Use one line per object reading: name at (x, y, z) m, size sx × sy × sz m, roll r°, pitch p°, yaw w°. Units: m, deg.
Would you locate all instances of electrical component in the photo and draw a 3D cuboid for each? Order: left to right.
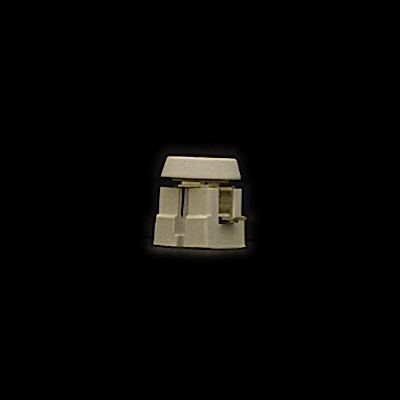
electrical component at (0.000, 0.000, 0.657) m, size 0.066 × 0.055 × 0.049 m, roll 2°, pitch 4°, yaw 40°
